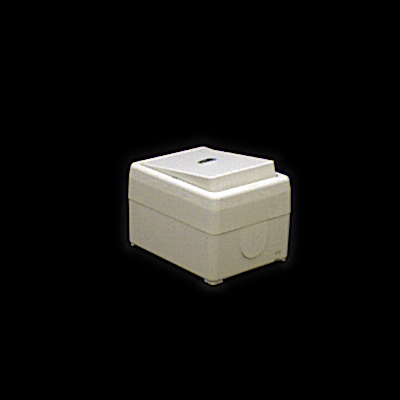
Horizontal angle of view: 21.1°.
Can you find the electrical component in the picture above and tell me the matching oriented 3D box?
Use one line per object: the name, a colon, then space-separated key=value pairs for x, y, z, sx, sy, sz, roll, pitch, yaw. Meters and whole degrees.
electrical component: x=0.000 y=0.000 z=0.640 sx=0.061 sy=0.061 sz=0.095 roll=-16 pitch=27 yaw=-38
